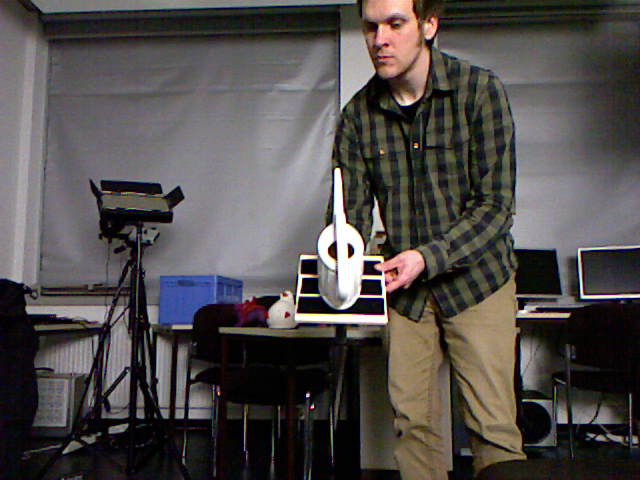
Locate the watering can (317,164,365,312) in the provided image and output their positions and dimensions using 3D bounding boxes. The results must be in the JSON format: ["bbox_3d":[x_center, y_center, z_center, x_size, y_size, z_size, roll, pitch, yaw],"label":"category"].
[{"bbox_3d":[0.044,0.011,1.158,0.104,0.357,0.219,0,-43,-1],"label":"watering can"}]
